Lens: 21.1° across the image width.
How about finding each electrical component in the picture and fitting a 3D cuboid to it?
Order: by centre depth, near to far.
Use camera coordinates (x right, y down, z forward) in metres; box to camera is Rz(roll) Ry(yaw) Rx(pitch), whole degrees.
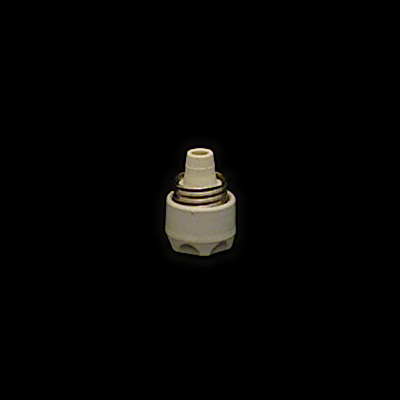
[{"bbox_3d":[0.000,0.000,0.645,0.043,0.063,0.043,0,22,1],"label":"electrical component"}]
